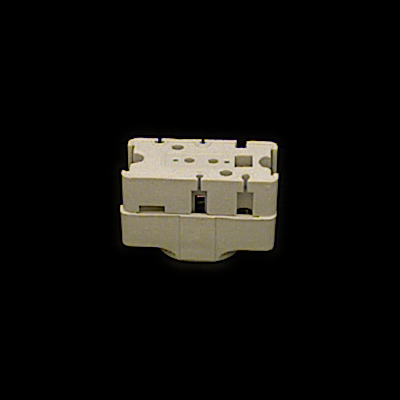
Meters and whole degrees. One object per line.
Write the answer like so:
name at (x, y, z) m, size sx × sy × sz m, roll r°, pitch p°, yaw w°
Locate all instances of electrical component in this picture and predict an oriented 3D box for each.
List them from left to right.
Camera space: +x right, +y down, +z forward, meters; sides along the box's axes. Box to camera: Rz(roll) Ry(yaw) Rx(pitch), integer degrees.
electrical component at (0.000, 0.000, 0.643) m, size 0.089 × 0.056 × 0.049 m, roll 2°, pitch 32°, yaw 1°
